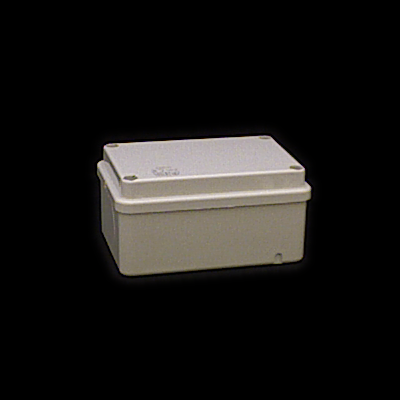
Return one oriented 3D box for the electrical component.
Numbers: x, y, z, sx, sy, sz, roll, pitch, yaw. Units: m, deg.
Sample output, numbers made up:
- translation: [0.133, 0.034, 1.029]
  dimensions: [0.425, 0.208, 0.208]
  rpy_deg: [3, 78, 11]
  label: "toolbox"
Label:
- translation: [0.000, 0.000, 0.637]
  dimensions: [0.113, 0.058, 0.077]
  rpy_deg: [-4, 21, -14]
  label: "electrical component"
